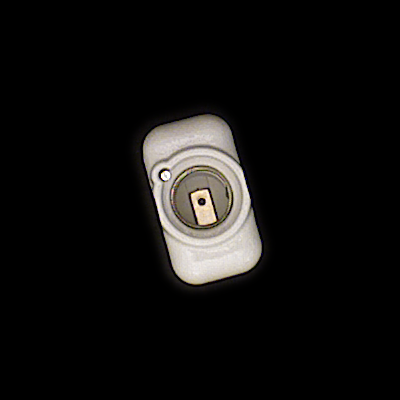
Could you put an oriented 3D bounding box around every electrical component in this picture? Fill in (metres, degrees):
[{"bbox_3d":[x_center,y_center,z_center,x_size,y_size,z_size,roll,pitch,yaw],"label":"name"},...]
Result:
[{"bbox_3d":[0.000,0.000,0.635,0.054,0.095,0.059,-15,-6,-1],"label":"electrical component"}]
